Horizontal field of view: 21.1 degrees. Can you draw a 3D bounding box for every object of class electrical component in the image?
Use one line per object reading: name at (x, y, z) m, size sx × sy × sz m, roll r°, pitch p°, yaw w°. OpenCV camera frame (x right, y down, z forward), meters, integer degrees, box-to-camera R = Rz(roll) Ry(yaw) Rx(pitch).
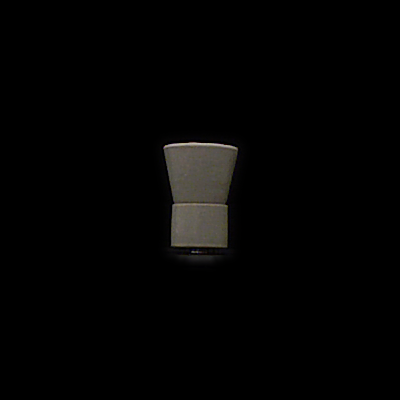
electrical component at (0.000, 0.000, 0.652) m, size 0.044 × 0.065 × 0.044 m, roll 1°, pitch 0°, yaw 0°
